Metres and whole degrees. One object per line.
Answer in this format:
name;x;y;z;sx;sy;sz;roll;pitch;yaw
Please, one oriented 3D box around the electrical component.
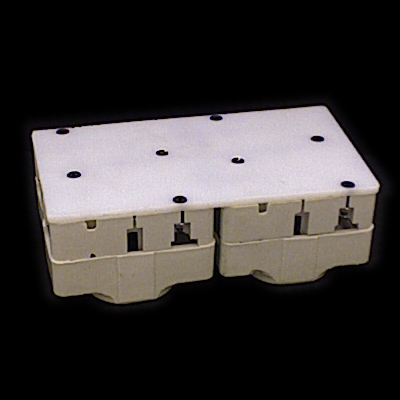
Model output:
electrical component;0.000;0.000;0.634;0.186;0.061;0.104;-6;32;-11
